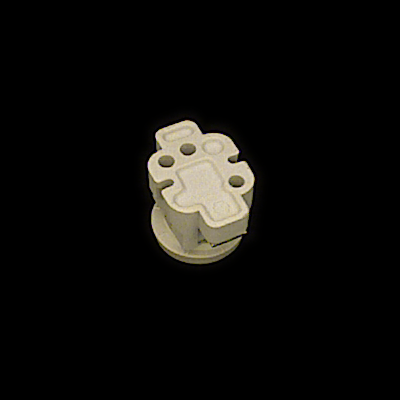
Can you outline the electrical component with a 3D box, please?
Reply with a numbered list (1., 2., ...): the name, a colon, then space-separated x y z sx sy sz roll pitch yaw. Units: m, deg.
1. electrical component: 0.000 0.000 0.636 0.058 0.078 0.057 -21 -32 -17
